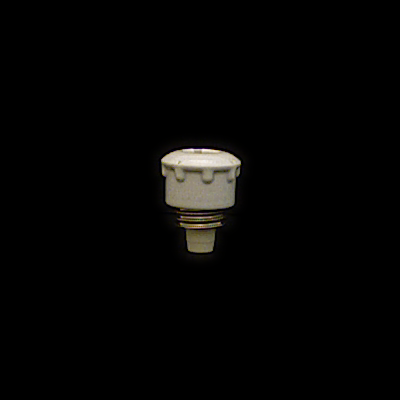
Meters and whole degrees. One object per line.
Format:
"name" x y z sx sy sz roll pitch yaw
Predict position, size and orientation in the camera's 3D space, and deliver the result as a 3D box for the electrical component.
"electrical component" 0.000 0.000 0.651 0.048 0.062 0.048 1 11 0
